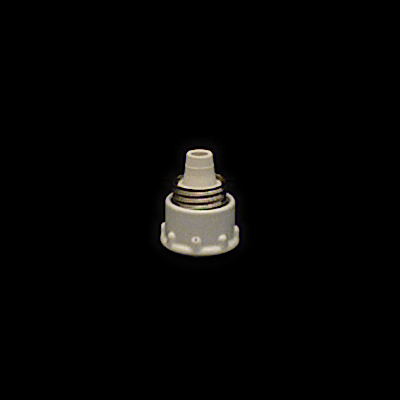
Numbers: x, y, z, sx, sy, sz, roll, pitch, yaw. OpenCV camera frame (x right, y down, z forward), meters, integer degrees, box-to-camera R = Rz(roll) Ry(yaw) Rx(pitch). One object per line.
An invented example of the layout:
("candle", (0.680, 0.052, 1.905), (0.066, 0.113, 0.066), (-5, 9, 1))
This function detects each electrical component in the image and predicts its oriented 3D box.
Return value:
("electrical component", (0.000, 0.000, 0.645), (0.048, 0.063, 0.047), (1, 21, 0))
